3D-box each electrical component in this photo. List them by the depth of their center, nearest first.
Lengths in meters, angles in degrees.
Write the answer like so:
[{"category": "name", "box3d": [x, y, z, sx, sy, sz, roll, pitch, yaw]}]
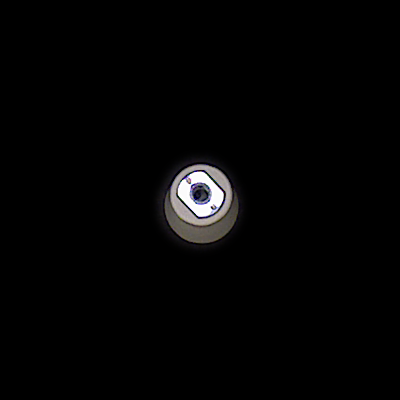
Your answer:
[{"category": "electrical component", "box3d": [0.000, 0.000, 0.626, 0.044, 0.044, 0.065, 0, -7, 0]}]
